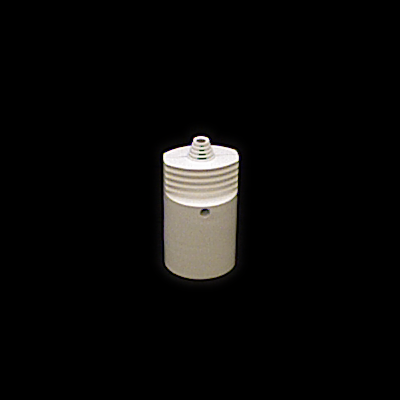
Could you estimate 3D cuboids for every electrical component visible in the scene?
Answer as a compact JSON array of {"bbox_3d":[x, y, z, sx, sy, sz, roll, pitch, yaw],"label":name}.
[{"bbox_3d":[0.000,0.000,0.628,0.043,0.082,0.042,1,31,0],"label":"electrical component"}]
